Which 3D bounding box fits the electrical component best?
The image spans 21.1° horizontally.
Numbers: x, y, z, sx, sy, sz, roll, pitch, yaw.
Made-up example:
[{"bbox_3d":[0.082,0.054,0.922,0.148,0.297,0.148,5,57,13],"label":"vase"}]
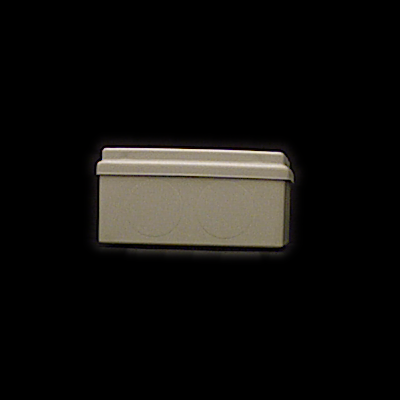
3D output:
[{"bbox_3d":[0.000,0.000,0.651,0.109,0.056,0.108,2,0,6],"label":"electrical component"}]
